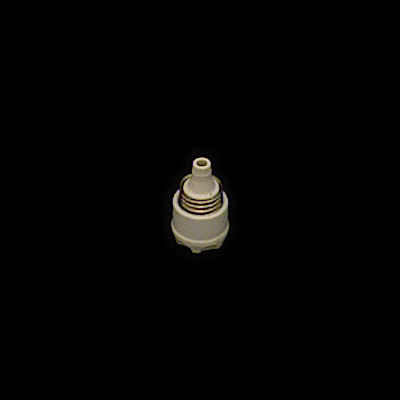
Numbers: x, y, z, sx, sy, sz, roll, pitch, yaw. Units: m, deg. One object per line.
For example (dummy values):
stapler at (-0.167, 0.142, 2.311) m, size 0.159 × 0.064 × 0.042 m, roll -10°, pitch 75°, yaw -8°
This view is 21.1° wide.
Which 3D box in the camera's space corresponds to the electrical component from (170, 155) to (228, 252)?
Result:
electrical component at (0.000, 0.000, 0.643) m, size 0.035 × 0.062 × 0.034 m, roll 1°, pitch 43°, yaw -1°
